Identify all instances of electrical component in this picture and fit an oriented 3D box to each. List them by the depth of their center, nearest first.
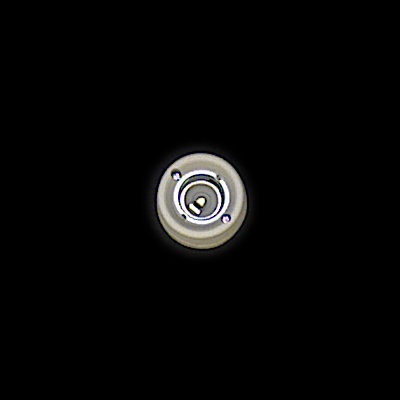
[{"bbox_3d":[0.000,0.000,0.634,0.055,0.055,0.047,0,-8,1],"label":"electrical component"}]
